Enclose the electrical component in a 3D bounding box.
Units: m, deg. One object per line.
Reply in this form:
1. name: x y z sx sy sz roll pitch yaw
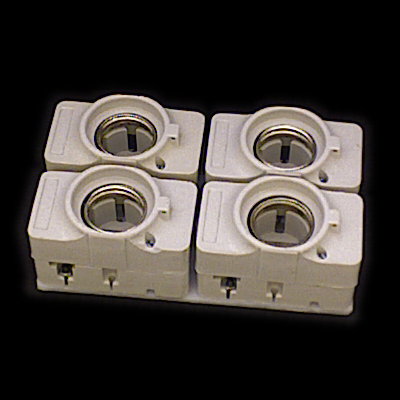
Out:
1. electrical component: 0.000 0.000 0.628 0.186 0.105 0.060 5 -38 3
